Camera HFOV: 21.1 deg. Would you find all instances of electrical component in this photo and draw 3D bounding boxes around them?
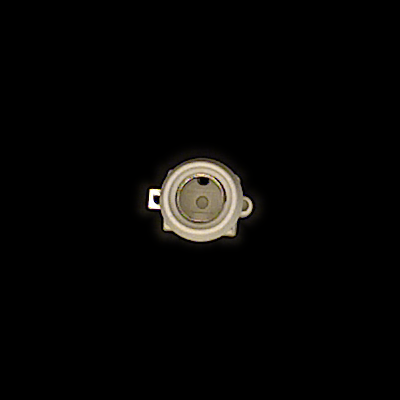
[{"bbox_3d":[0.000,0.000,0.639,0.066,0.048,0.055,3,-8,1],"label":"electrical component"}]
